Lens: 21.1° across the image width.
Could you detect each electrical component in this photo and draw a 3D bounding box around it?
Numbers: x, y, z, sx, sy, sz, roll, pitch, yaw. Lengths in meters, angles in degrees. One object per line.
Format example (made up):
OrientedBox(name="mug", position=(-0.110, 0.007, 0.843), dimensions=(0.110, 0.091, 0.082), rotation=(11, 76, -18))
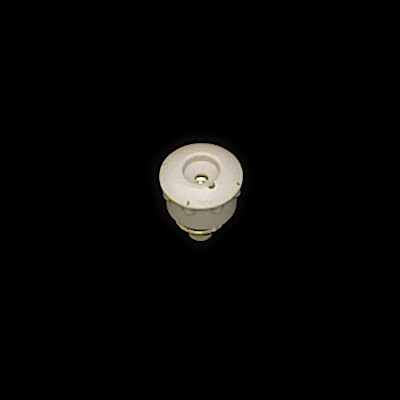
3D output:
OrientedBox(name="electrical component", position=(0.000, 0.000, 0.636), dimensions=(0.048, 0.048, 0.062), rotation=(0, -37, 0))
